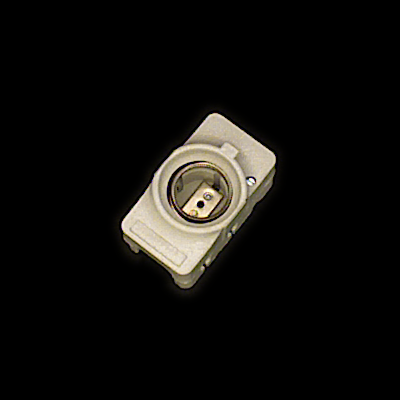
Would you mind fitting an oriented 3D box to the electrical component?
[{"bbox_3d":[0.000,0.000,0.636,0.050,0.090,0.055,36,-13,10],"label":"electrical component"}]
